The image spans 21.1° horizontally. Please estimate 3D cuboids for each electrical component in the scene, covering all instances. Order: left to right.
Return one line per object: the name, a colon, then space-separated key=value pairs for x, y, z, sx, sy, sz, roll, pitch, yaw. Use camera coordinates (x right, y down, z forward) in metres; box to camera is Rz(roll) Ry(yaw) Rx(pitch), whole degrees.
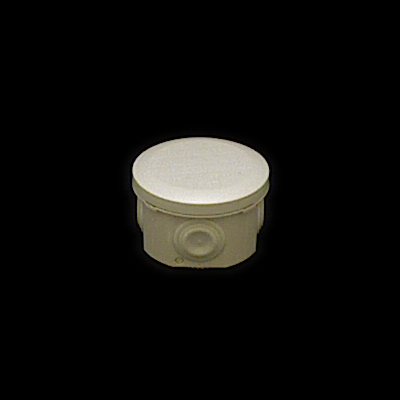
electrical component: x=0.000 y=0.000 z=0.635 sx=0.080 sy=0.051 sz=0.079 roll=1 pitch=31 yaw=0
